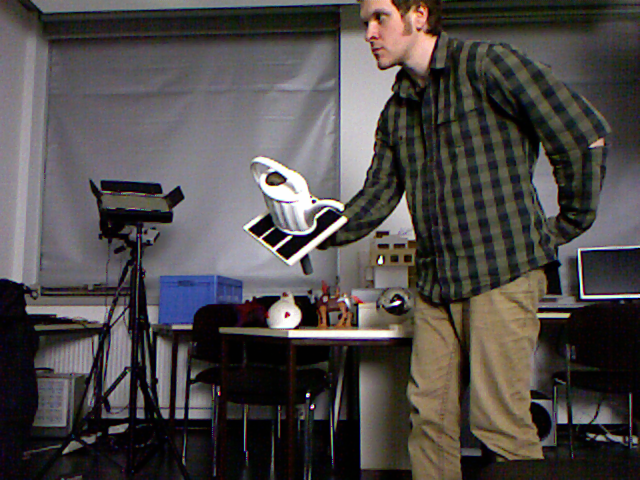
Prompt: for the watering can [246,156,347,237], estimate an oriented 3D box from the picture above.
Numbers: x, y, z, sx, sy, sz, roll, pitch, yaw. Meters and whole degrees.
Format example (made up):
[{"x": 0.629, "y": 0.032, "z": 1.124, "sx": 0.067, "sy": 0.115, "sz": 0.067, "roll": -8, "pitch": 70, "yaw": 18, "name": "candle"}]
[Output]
[{"x": -0.057, "y": -0.091, "z": 1.288, "sx": 0.352, "sy": 0.219, "sz": 0.105, "roll": 31, "pitch": 63, "yaw": 34, "name": "watering can"}]
